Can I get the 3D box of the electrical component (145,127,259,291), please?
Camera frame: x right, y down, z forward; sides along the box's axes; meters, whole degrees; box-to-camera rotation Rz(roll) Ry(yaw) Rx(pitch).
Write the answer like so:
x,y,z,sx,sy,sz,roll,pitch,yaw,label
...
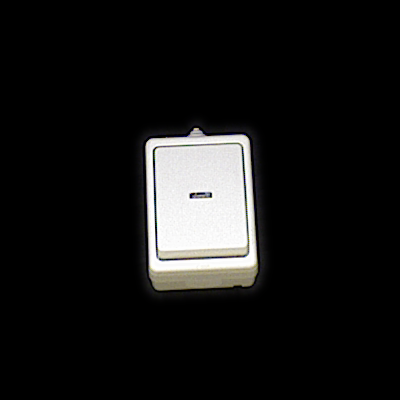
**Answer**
x,y,z,sx,sy,sz,roll,pitch,yaw,label
0.000,0.000,0.626,0.062,0.096,0.060,-3,-17,-1,electrical component
